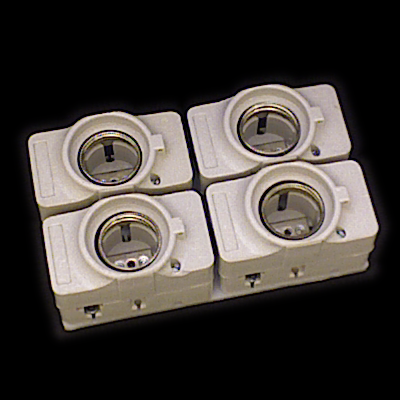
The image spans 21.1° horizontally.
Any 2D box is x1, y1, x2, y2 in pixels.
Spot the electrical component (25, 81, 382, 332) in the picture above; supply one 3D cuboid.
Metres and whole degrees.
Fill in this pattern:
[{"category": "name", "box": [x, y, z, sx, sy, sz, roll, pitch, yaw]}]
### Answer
[{"category": "electrical component", "box": [0.000, 0.000, 0.626, 0.186, 0.105, 0.060, -10, -27, -6]}]
